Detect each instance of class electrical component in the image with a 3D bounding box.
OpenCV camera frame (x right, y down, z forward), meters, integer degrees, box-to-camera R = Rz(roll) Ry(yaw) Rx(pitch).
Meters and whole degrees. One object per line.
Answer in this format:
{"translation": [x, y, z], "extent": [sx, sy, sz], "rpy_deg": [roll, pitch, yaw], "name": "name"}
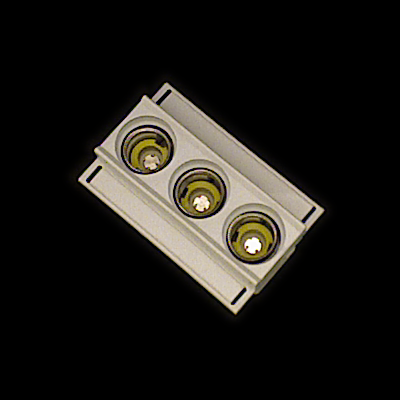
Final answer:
{"translation": [0.000, 0.000, 0.637], "extent": [0.121, 0.079, 0.063], "rpy_deg": [40, -10, 11], "name": "electrical component"}
